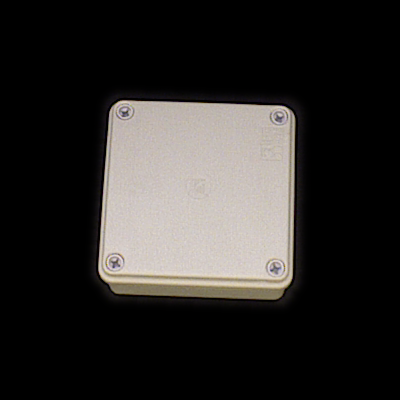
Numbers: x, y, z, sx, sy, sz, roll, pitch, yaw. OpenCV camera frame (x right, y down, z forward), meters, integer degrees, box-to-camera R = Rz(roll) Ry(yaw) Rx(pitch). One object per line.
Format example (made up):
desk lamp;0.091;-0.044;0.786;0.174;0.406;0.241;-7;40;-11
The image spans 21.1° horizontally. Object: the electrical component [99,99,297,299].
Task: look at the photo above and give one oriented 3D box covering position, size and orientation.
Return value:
electrical component;0.000;0.000;0.629;0.109;0.109;0.056;2;-17;1
